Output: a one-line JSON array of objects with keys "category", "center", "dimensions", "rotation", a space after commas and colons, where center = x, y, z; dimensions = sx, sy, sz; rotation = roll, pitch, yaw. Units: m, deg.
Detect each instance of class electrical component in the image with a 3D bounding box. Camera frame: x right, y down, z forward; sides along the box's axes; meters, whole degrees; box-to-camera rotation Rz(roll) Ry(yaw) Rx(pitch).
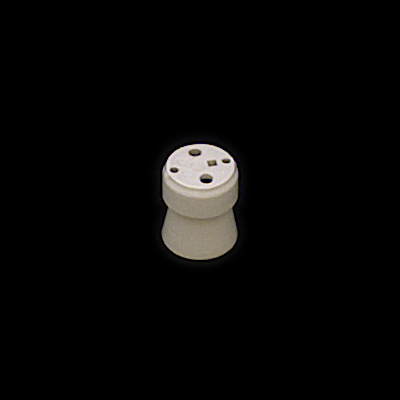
[{"category": "electrical component", "center": [0.000, 0.000, 0.631], "dimensions": [0.045, 0.055, 0.044], "rotation": [0, 43, 0]}]
